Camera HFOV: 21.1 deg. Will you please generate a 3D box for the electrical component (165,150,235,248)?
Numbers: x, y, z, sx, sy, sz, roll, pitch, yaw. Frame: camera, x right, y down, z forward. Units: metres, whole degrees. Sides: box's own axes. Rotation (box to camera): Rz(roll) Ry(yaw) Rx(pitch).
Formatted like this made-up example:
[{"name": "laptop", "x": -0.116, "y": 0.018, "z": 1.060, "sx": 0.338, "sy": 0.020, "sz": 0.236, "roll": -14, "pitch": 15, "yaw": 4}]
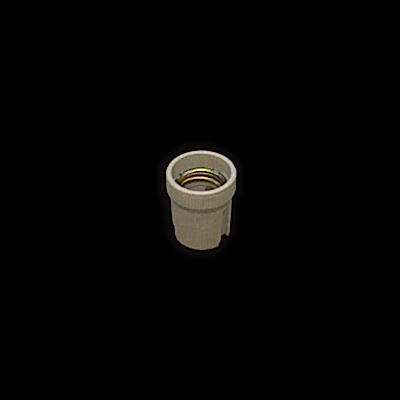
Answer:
[{"name": "electrical component", "x": 0.000, "y": 0.000, "z": 0.634, "sx": 0.040, "sy": 0.047, "sz": 0.039, "roll": 1, "pitch": 42, "yaw": 0}]
